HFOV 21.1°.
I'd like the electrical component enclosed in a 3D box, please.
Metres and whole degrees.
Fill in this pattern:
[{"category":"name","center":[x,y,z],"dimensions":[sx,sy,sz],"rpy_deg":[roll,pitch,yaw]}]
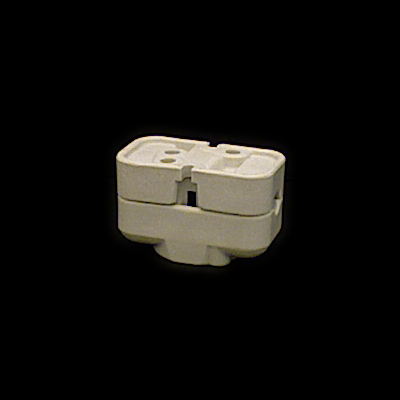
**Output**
[{"category":"electrical component","center":[0.000,0.000,0.643],"dimensions":[0.094,0.060,0.053],"rpy_deg":[8,23,16]}]
